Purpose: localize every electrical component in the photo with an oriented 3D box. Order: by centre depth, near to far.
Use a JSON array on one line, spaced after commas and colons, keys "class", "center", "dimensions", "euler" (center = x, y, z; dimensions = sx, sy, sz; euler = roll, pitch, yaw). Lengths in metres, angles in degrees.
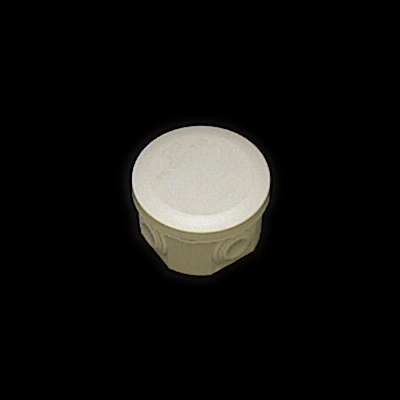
[{"class": "electrical component", "center": [0.000, 0.000, 0.632], "dimensions": [0.080, 0.080, 0.051], "euler": [0, -38, -1]}]
